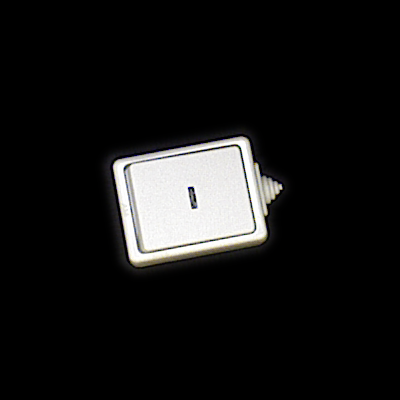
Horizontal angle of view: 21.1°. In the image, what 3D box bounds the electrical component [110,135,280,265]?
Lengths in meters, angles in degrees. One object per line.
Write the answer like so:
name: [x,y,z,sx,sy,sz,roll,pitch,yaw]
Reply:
electrical component: [0.000,0.000,0.627,0.096,0.062,0.061,-11,-7,-1]
